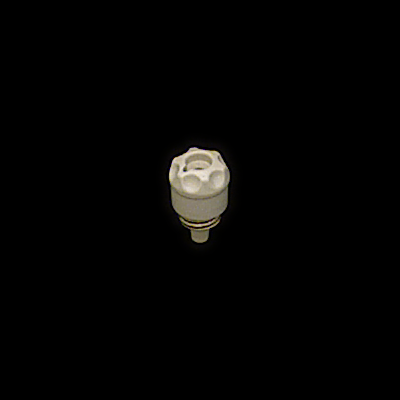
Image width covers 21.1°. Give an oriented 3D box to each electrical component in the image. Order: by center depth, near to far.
[{"bbox_3d":[0.000,0.000,0.637,0.035,0.062,0.035,0,43,0],"label":"electrical component"}]
